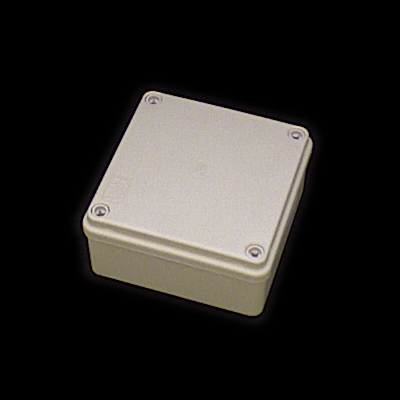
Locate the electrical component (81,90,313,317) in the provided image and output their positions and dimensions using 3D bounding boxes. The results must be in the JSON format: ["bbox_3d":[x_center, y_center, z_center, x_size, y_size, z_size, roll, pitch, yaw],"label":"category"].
[{"bbox_3d":[0.000,0.000,0.631,0.108,0.108,0.056,15,-37,10],"label":"electrical component"}]
